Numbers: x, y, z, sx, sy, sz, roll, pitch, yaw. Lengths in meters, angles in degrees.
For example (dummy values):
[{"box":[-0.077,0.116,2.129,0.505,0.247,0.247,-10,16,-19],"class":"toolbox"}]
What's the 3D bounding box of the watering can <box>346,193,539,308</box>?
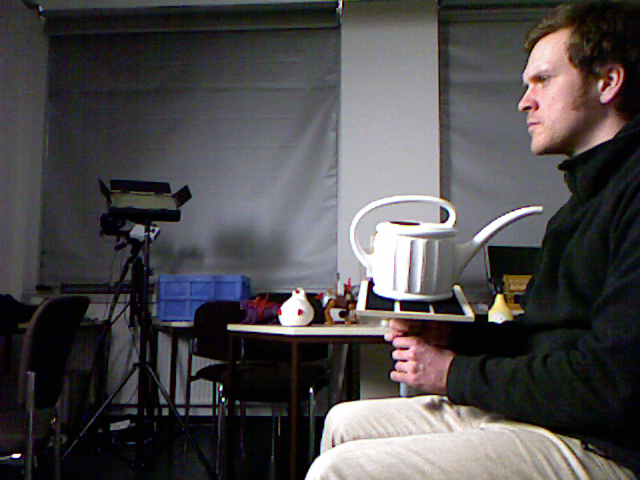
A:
[{"box":[0.222,0.024,0.969,0.348,0.222,0.105,3,16,6],"class":"watering can"}]
